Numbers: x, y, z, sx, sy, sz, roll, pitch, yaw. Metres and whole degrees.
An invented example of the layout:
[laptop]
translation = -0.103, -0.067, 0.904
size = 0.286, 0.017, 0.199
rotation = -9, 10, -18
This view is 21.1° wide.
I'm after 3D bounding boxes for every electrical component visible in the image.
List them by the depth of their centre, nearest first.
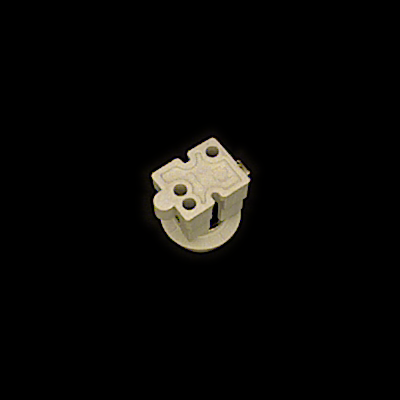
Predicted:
[electrical component]
translation = 0.000, 0.000, 0.636
size = 0.067, 0.048, 0.055
rotation = -32, -24, -16
